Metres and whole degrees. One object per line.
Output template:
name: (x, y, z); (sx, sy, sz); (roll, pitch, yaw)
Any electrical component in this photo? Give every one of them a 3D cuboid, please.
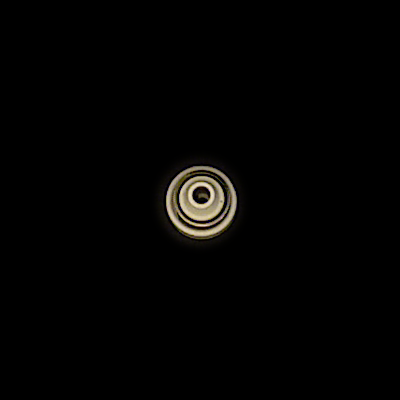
electrical component: (0.000, 0.000, 0.635); (0.043, 0.043, 0.062); (0, -6, 0)
